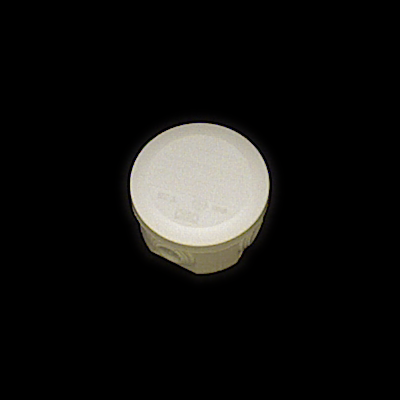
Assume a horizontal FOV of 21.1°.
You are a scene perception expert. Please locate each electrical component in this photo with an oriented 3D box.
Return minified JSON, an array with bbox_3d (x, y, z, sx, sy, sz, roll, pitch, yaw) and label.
[{"bbox_3d":[0.000,0.000,0.630,0.080,0.080,0.050,0,-27,0],"label":"electrical component"}]
